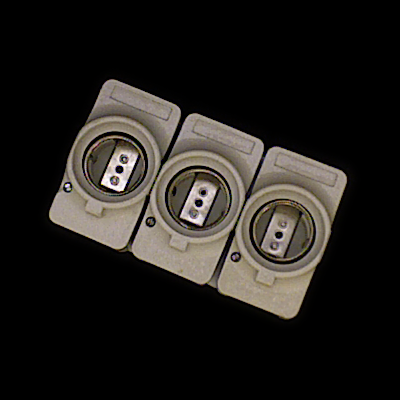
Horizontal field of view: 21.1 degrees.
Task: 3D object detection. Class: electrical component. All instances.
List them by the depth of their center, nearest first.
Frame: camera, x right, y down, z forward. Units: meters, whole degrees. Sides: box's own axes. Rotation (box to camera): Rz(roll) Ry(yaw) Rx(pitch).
[{"bbox_3d":[0.000,0.000,0.632,0.150,0.089,0.061,22,-5,3],"label":"electrical component"}]
